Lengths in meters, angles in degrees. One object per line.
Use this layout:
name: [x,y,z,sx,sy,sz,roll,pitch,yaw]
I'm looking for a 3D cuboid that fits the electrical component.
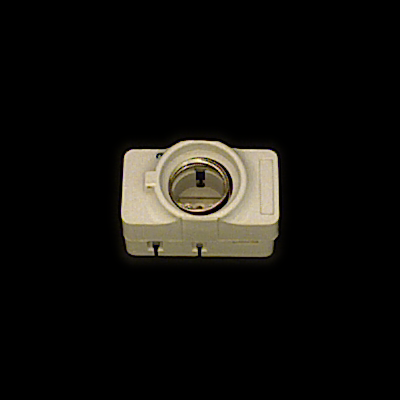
electrical component: [0.000,0.000,0.636,0.089,0.050,0.055,0,-27,0]
